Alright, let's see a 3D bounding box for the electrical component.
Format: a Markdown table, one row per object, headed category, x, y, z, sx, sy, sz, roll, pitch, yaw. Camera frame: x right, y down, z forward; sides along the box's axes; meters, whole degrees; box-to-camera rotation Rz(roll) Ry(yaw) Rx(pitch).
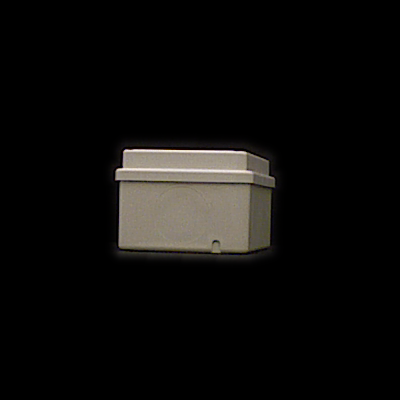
| category | x | y | z | sx | sy | sz | roll | pitch | yaw |
| --- | --- | --- | --- | --- | --- | --- | --- | --- | --- |
| electrical component | 0.000 | 0.000 | 0.650 | 0.078 | 0.057 | 0.113 | 1 | 0 | 11 |
